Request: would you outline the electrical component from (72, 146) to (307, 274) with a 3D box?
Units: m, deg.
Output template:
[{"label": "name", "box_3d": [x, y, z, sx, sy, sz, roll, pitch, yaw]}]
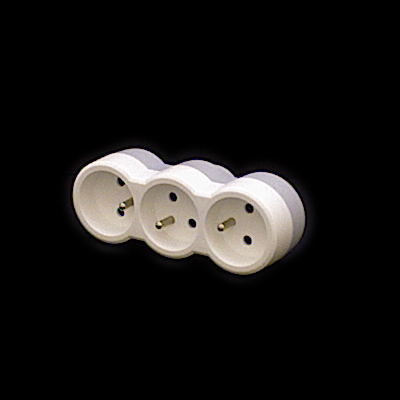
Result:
[{"label": "electrical component", "box_3d": [0.000, 0.000, 0.642, 0.137, 0.053, 0.073, 11, 21, 27]}]
